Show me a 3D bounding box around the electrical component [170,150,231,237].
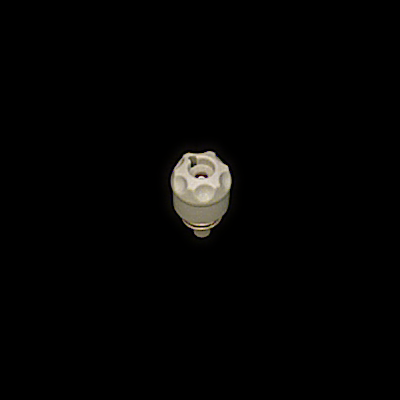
[{"bbox_3d":[0.000,0.000,0.636,0.035,0.035,0.062,0,-37,0],"label":"electrical component"}]
